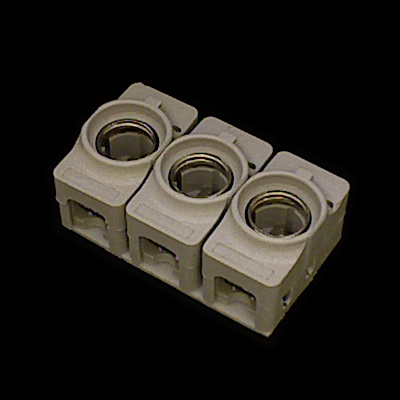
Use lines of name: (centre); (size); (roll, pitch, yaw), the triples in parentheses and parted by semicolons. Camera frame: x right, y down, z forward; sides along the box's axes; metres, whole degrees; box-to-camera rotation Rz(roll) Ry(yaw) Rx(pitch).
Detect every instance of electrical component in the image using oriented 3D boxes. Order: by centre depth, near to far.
electrical component: (0.000, 0.000, 0.635); (0.149, 0.089, 0.062); (27, -34, 18)
